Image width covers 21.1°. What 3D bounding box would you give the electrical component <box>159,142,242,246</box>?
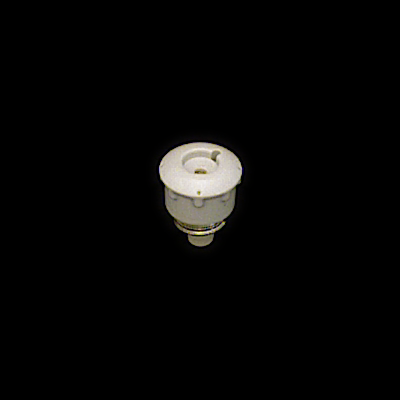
[{"bbox_3d":[0.000,0.000,0.639,0.048,0.062,0.047,1,43,0],"label":"electrical component"}]
